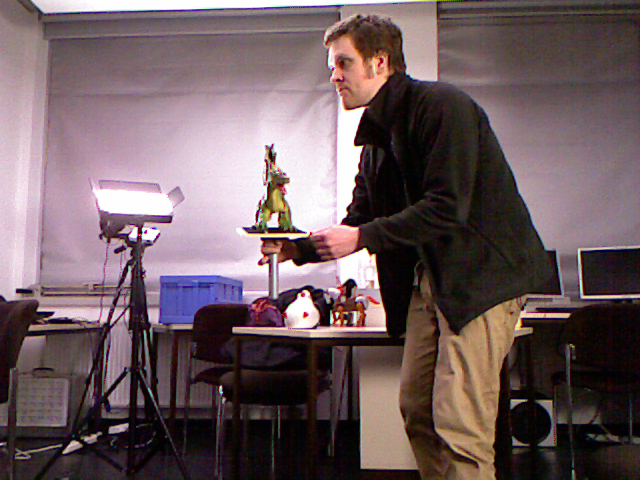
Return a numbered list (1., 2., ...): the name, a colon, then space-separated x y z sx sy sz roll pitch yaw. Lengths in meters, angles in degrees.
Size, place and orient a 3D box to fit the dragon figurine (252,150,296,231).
1. dragon figurine: -0.158 -0.147 1.524 0.123 0.242 0.412 -8 7 -19
